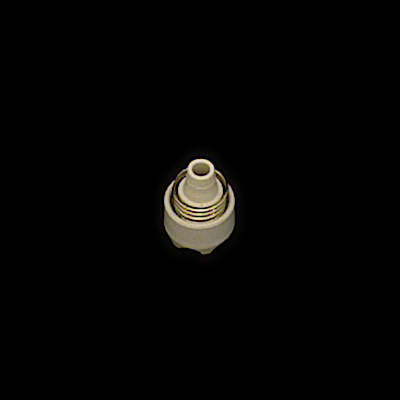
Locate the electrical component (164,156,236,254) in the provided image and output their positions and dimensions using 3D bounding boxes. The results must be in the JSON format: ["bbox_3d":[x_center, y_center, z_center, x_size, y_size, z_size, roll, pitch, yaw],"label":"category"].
[{"bbox_3d":[0.000,0.000,0.635,0.043,0.043,0.062,0,-36,-2],"label":"electrical component"}]
